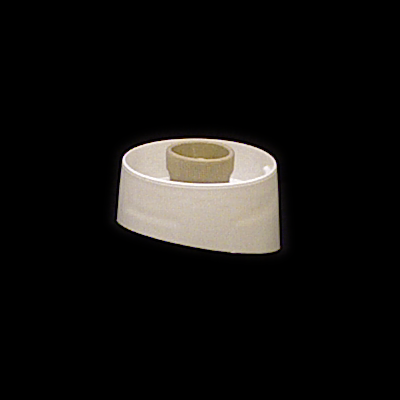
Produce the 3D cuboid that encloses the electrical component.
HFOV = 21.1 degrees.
[{"bbox_3d":[0.000,0.000,0.637,0.099,0.065,0.097,1,20,0],"label":"electrical component"}]
